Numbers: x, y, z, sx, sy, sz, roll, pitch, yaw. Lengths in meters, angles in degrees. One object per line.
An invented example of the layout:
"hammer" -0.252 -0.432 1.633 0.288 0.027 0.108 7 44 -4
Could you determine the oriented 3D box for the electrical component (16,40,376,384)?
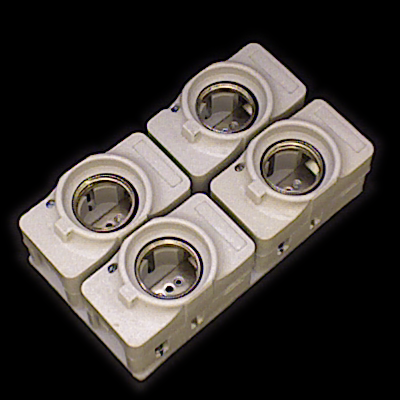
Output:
"electrical component" 0.000 0.000 0.625 0.187 0.105 0.060 -39 -21 -18
